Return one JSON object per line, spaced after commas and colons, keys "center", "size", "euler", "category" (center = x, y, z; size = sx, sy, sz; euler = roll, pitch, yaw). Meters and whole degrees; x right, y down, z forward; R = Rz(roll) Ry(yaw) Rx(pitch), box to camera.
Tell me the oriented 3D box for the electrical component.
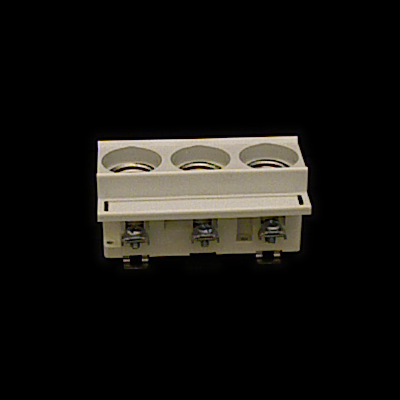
{"center": [0.000, 0.000, 0.647], "size": [0.121, 0.064, 0.077], "euler": [-2, 31, -4], "category": "electrical component"}
